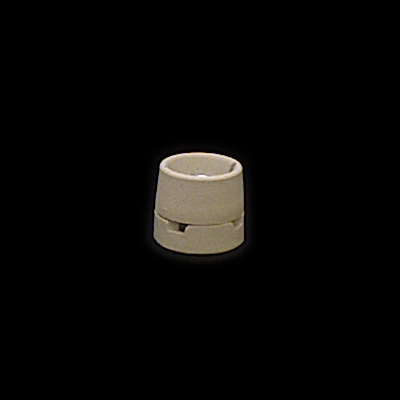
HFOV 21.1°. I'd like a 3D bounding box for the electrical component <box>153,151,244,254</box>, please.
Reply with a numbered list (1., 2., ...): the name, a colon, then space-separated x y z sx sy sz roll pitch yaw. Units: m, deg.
1. electrical component: 0.000 0.000 0.642 0.055 0.047 0.055 2 21 -1
